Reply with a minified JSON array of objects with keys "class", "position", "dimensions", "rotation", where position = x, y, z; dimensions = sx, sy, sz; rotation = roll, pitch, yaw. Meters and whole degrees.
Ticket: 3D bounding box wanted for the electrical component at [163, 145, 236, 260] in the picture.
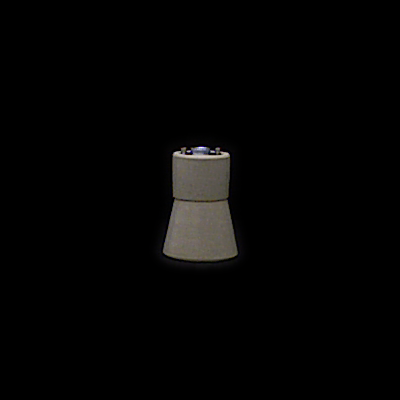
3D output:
[{"class":"electrical component","position":[0.000,0.000,0.645],"dimensions":[0.044,0.066,0.044],"rotation":[1,10,0]}]
